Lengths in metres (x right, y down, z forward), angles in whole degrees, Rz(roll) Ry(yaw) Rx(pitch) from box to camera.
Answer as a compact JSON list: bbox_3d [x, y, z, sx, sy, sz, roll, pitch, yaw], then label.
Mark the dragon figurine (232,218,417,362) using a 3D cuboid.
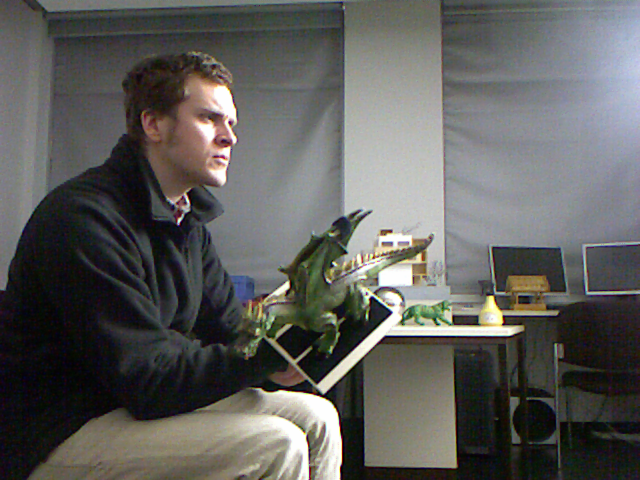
[{"bbox_3d":[0.024,0.059,0.829,0.417,0.124,0.238,-37,-26,-23],"label":"dragon figurine"}]
